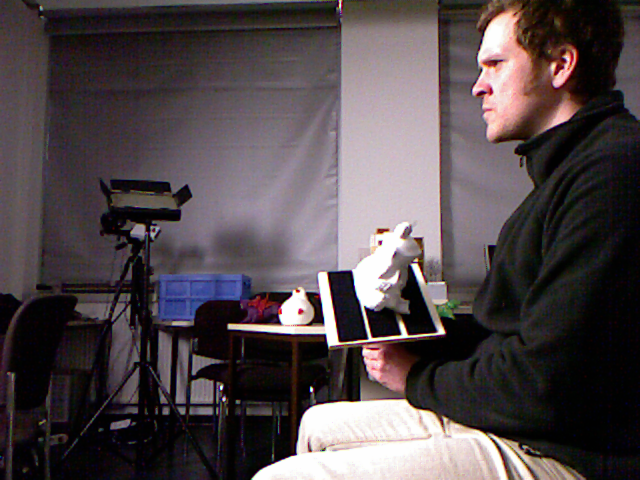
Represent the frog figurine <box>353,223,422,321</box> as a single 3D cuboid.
[{"bbox_3d":[0.118,0.049,0.920,0.123,0.156,0.141,5,38,13],"label":"frog figurine"}]
